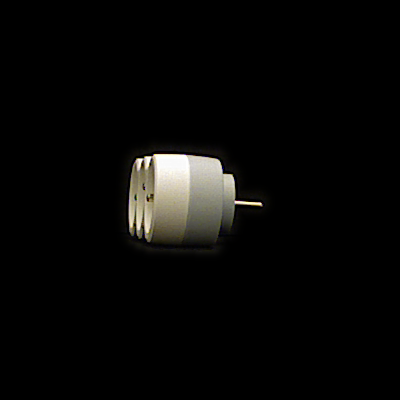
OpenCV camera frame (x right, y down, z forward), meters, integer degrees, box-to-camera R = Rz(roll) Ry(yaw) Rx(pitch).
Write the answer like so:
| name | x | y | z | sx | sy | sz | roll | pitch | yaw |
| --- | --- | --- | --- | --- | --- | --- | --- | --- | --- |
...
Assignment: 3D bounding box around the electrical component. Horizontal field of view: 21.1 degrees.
| name | x | y | z | sx | sy | sz | roll | pitch | yaw |
| --- | --- | --- | --- | --- | --- | --- | --- | --- | --- |
| electrical component | 0.000 | 0.000 | 0.656 | 0.074 | 0.052 | 0.137 | 3 | 0 | -10 |
